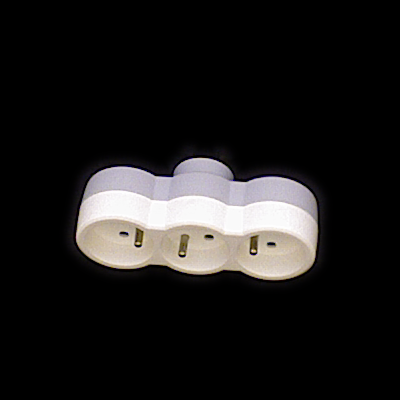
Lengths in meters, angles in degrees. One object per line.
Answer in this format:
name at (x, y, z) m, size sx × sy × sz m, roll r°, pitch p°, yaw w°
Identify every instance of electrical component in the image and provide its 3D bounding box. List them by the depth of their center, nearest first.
electrical component at (0.000, 0.000, 0.631) m, size 0.138 × 0.073 × 0.052 m, roll 4°, pitch -39°, yaw 3°
